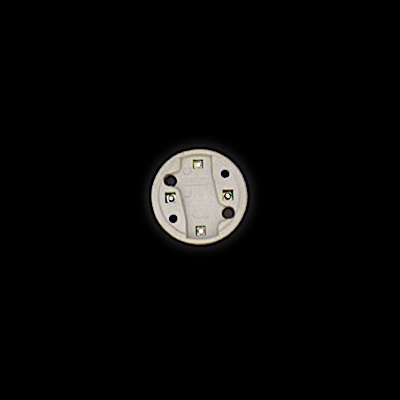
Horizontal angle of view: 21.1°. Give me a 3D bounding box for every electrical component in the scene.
[{"bbox_3d":[0.000,0.000,0.636,0.055,0.055,0.047,0,-6,0],"label":"electrical component"}]
